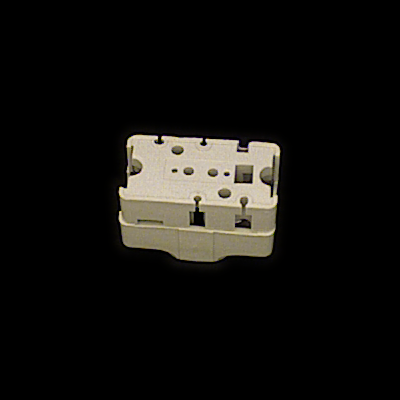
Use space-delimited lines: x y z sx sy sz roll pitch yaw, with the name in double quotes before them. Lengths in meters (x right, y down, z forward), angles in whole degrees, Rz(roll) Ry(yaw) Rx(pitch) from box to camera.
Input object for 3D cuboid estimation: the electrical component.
"electrical component" 0.000 0.000 0.638 0.089 0.050 0.056 4 -38 2
